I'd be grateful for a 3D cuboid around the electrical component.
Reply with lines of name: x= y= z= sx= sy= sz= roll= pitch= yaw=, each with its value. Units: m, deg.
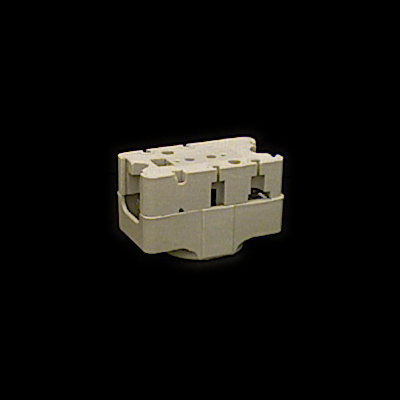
electrical component: x=0.000 y=0.000 z=0.646 sx=0.090 sy=0.056 sz=0.049 roll=-9 pitch=25 yaw=-24
